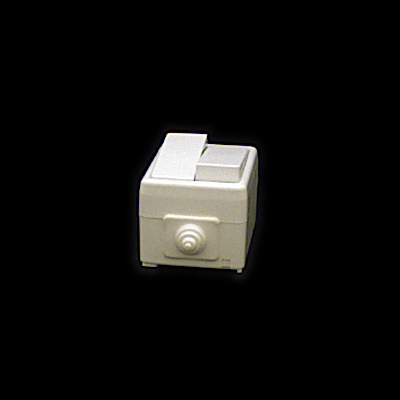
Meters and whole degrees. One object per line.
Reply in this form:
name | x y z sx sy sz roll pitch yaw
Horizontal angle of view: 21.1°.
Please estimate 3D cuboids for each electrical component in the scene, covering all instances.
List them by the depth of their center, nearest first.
electrical component | 0.000 0.000 0.636 0.062 0.061 0.095 4 21 7
